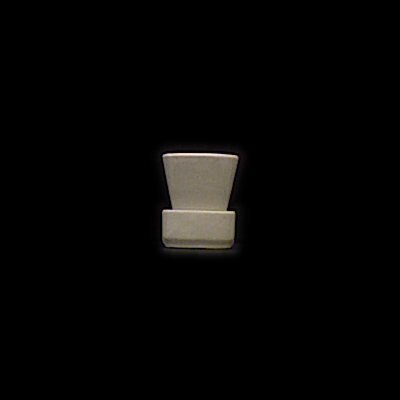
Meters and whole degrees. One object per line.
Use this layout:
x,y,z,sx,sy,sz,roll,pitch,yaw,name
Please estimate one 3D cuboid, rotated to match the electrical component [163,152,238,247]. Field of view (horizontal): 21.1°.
0.000,0.000,0.649,0.045,0.055,0.044,1,2,0,electrical component
